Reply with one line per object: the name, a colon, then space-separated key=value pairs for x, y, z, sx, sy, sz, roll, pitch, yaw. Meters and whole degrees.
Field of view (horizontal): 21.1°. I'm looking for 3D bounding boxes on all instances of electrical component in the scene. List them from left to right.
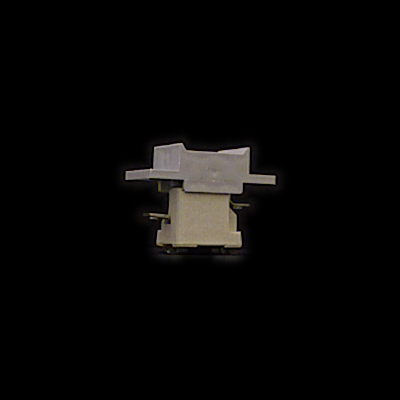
electrical component: x=0.000 y=0.000 z=0.648 sx=0.081 sy=0.064 sz=0.042 roll=2 pitch=2 yaw=-24
